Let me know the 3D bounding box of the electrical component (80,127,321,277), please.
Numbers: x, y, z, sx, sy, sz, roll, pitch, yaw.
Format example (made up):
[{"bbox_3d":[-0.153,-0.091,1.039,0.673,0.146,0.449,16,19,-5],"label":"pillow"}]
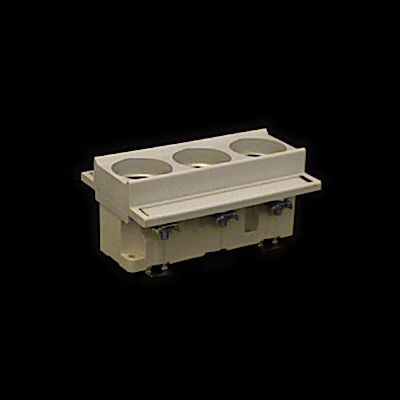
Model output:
[{"bbox_3d":[0.000,0.000,0.651,0.121,0.064,0.077,-12,26,-29],"label":"electrical component"}]
